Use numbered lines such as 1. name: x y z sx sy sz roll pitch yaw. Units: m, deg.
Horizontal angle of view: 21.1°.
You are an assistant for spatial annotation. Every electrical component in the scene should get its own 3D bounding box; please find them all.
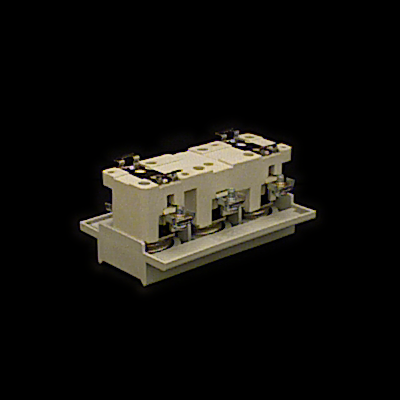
1. electrical component: 0.000 0.000 0.647 0.122 0.064 0.077 -17 27 -39
